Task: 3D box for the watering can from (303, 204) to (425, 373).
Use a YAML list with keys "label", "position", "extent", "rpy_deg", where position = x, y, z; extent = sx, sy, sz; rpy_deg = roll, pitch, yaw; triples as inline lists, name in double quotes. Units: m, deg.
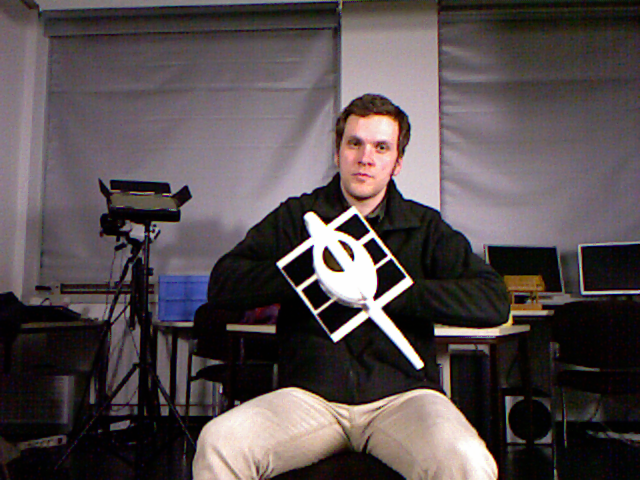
- label: "watering can"
  position: [0.075, 0.082, 0.967]
  extent: [0.104, 0.351, 0.225]
  rpy_deg: [-34, -6, 3]
